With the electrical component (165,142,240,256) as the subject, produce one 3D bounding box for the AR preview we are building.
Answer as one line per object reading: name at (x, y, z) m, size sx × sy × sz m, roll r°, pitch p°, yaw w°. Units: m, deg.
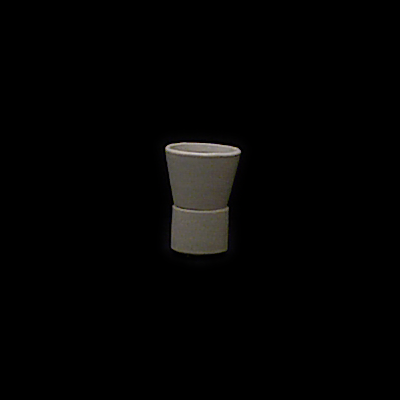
electrical component at (0.000, 0.000, 0.643) m, size 0.044 × 0.066 × 0.044 m, roll 2°, pitch 11°, yaw 0°
